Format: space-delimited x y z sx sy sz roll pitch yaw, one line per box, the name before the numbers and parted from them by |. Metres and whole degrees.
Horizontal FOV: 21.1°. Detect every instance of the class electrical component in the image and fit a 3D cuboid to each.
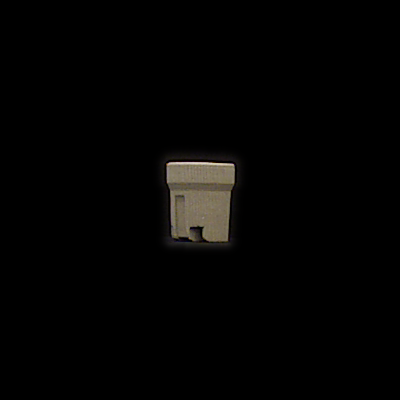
electrical component | 0.000 0.000 0.647 0.040 0.046 0.040 1 1 1
